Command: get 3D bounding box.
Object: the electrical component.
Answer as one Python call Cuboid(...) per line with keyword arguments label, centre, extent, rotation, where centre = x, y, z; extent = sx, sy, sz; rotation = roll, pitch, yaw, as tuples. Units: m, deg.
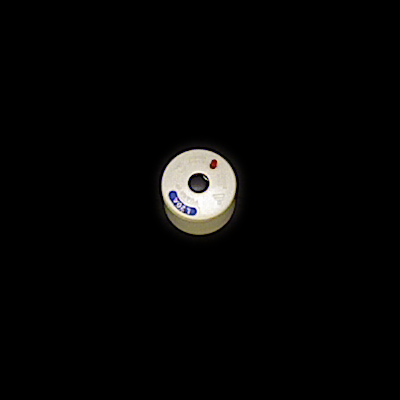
Cuboid(label="electrical component", centre=(0.000, 0.000, 0.618), extent=(0.040, 0.040, 0.078), rotation=(0, -17, 0))
